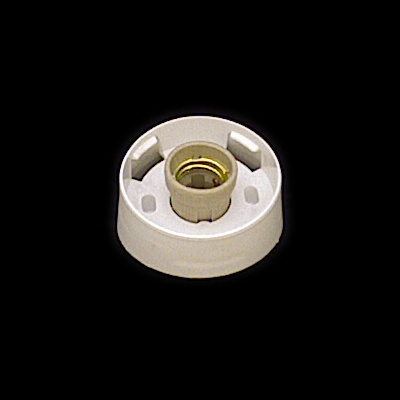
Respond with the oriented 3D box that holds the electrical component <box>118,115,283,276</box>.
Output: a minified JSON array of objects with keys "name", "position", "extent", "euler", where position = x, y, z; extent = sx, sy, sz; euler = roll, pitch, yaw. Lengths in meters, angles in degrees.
[{"name":"electrical component","position":[0.000,0.000,0.626],"extent":[0.099,0.098,0.064],"euler":[0,-38,0]}]
